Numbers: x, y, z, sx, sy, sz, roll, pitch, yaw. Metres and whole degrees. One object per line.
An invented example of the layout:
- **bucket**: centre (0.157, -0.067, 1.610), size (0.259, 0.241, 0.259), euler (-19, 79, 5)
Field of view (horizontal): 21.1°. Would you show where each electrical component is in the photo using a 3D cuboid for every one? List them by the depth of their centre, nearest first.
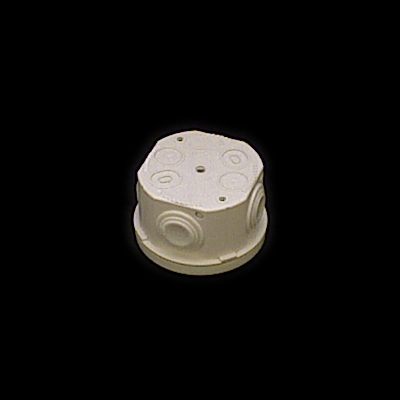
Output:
- **electrical component**: centre (0.000, 0.000, 0.635), size (0.080, 0.051, 0.079), euler (0, 42, 0)
